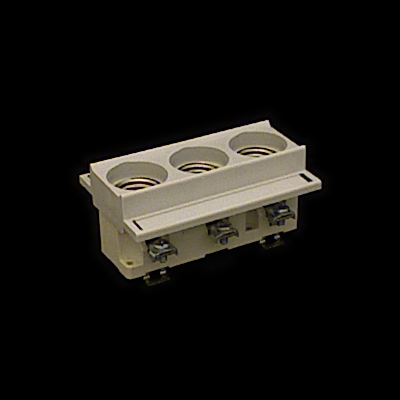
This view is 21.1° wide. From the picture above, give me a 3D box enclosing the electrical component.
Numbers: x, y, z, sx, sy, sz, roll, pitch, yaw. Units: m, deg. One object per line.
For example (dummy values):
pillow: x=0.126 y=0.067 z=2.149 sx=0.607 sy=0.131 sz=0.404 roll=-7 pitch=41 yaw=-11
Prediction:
electrical component: x=0.000 y=0.000 z=0.646 sx=0.121 sy=0.064 sz=0.077 roll=-16 pitch=34 yaw=-24
